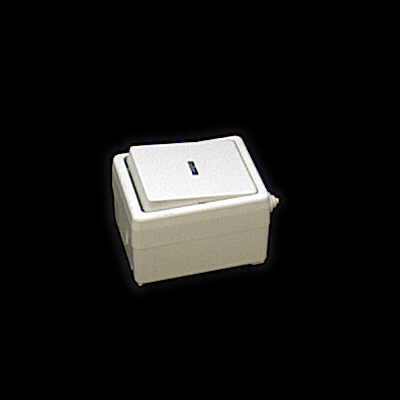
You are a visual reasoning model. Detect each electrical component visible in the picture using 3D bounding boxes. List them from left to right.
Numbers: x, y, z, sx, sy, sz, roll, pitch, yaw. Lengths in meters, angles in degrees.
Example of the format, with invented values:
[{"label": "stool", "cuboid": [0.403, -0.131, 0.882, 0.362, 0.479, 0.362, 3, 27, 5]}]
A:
[{"label": "electrical component", "cuboid": [0.000, 0.000, 0.630, 0.096, 0.061, 0.061, -10, 43, -12]}]
